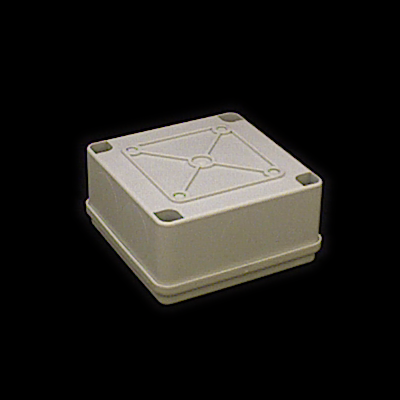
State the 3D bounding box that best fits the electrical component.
[{"bbox_3d":[0.000,0.000,0.637,0.109,0.057,0.107,-15,34,-25],"label":"electrical component"}]
